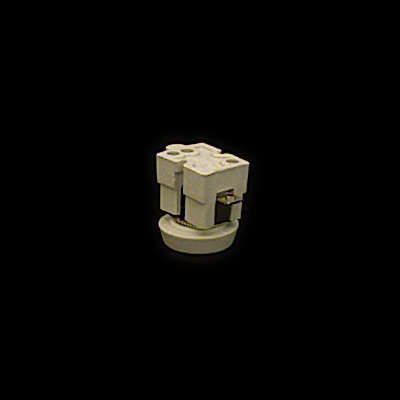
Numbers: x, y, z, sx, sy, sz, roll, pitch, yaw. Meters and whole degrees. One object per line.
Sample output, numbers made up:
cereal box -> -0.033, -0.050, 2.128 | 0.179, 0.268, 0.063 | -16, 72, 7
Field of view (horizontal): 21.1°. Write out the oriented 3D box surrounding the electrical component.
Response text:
electrical component -> 0.000, 0.000, 0.647 | 0.049, 0.056, 0.065 | -16, 29, -38
